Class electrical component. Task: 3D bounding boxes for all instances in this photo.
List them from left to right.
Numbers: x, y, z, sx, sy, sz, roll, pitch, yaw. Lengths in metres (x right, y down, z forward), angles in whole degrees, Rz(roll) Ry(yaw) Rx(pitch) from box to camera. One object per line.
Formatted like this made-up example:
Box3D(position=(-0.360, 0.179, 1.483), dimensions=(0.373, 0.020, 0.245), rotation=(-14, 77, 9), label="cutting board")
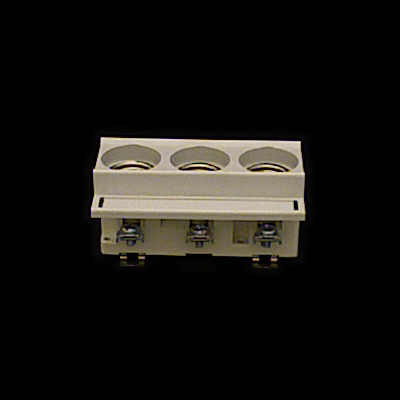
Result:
Box3D(position=(0.000, 0.000, 0.647), dimensions=(0.121, 0.064, 0.077), rotation=(1, 30, 1), label="electrical component")
